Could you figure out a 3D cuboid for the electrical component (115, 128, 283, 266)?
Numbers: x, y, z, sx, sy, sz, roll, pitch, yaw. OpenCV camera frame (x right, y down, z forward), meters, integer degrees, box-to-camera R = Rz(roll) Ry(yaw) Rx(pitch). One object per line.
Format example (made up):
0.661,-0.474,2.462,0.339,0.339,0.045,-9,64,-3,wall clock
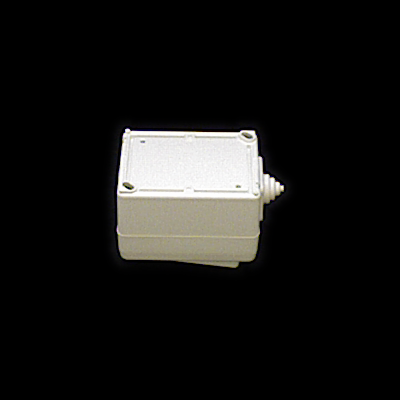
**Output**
0.000,0.000,0.632,0.096,0.061,0.061,1,41,0,electrical component
